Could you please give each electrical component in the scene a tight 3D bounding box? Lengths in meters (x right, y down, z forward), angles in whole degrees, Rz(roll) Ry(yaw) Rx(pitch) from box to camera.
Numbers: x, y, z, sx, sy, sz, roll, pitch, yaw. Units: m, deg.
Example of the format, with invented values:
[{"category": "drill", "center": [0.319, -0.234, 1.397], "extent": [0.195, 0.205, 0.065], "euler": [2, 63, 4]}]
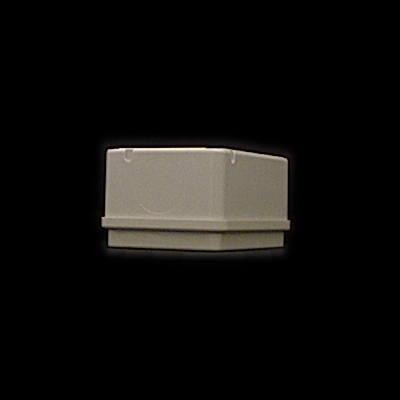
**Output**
[{"category": "electrical component", "center": [0.000, 0.000, 0.650], "extent": [0.078, 0.057, 0.113], "euler": [1, 0, 25]}]
